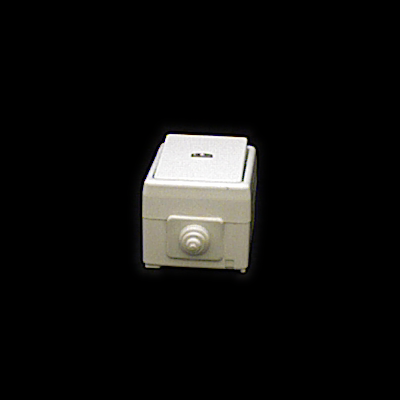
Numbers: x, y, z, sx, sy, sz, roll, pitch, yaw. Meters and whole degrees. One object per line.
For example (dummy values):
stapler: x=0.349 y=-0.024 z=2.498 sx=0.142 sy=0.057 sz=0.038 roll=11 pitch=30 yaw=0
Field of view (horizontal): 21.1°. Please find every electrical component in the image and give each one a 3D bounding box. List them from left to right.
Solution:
electrical component: x=0.000 y=0.000 z=0.636 sx=0.062 sy=0.061 sz=0.095 roll=3 pitch=21 yaw=5
